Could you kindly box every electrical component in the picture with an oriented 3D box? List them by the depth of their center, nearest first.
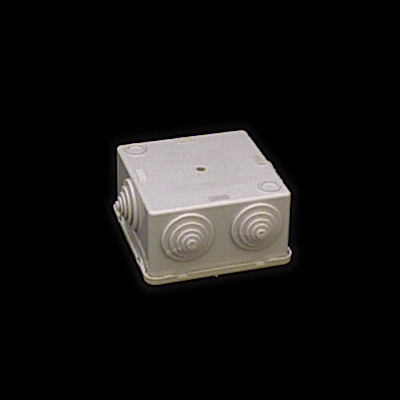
[{"bbox_3d":[0.000,0.000,0.638,0.100,0.049,0.098,-8,33,-15],"label":"electrical component"}]
